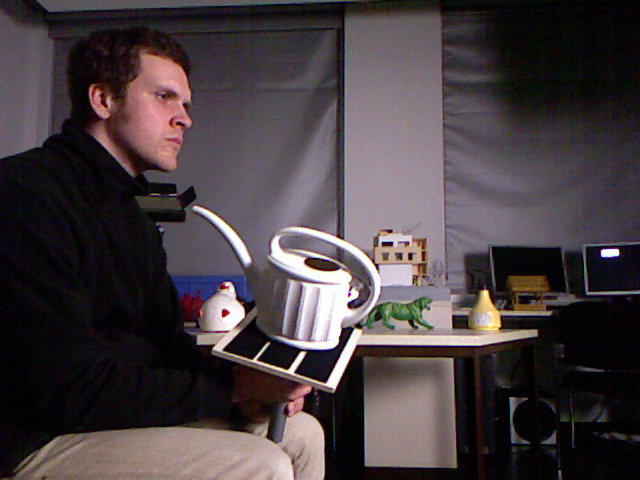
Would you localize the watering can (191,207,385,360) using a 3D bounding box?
[{"bbox_3d":[-0.066,0.071,0.865,0.349,0.221,0.106,16,22,14],"label":"watering can"}]
